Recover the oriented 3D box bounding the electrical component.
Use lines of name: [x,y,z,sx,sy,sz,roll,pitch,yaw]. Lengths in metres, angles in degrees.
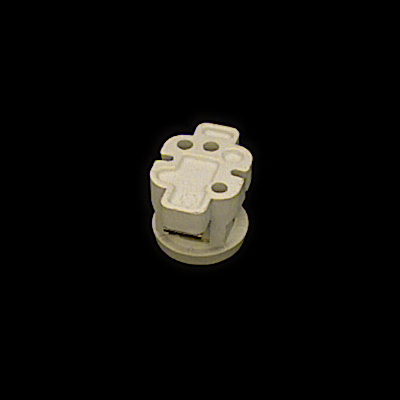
electrical component: [0.000,0.000,0.638,0.057,0.057,0.078,12,45,11]
